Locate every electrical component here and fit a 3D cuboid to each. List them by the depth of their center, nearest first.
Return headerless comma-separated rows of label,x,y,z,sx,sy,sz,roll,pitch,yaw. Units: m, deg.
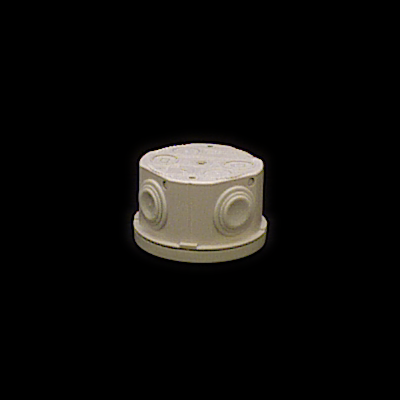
electrical component,0.000,0.000,0.640,0.080,0.051,0.079,1,22,0
